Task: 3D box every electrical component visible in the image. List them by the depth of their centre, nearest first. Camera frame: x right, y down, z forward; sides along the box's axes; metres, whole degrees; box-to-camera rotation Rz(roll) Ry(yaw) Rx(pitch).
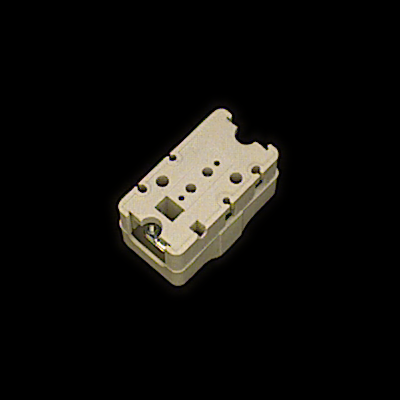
[{"bbox_3d":[0.000,0.000,0.636,0.050,0.090,0.055,39,-20,17],"label":"electrical component"}]
